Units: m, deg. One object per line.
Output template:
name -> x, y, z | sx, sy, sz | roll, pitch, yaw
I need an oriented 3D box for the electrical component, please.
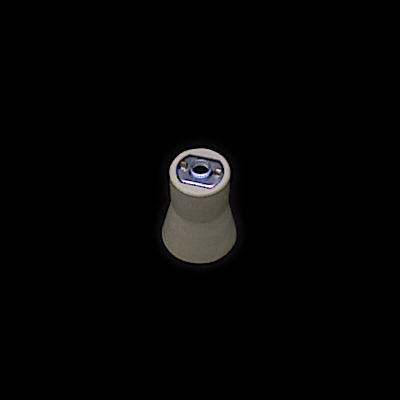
electrical component -> 0.000, 0.000, 0.626 | 0.044, 0.044, 0.065 | 0, -37, -1
